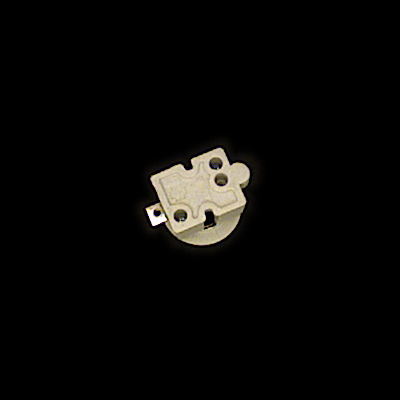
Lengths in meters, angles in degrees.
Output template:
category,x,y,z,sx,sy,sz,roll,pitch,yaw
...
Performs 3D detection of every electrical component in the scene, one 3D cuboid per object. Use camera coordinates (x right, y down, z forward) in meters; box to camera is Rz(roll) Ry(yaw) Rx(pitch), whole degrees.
category,x,y,z,sx,sy,sz,roll,pitch,yaw
electrical component,0.000,0.000,0.638,0.067,0.048,0.055,-23,-14,-5
